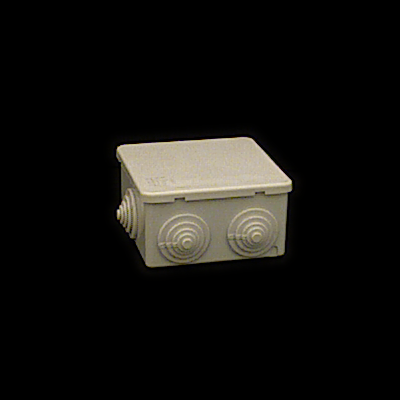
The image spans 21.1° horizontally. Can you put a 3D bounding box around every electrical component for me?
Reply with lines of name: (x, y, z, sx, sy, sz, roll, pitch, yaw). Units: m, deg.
electrical component: (0.000, 0.000, 0.646, 0.100, 0.049, 0.098, -4, 22, -14)
